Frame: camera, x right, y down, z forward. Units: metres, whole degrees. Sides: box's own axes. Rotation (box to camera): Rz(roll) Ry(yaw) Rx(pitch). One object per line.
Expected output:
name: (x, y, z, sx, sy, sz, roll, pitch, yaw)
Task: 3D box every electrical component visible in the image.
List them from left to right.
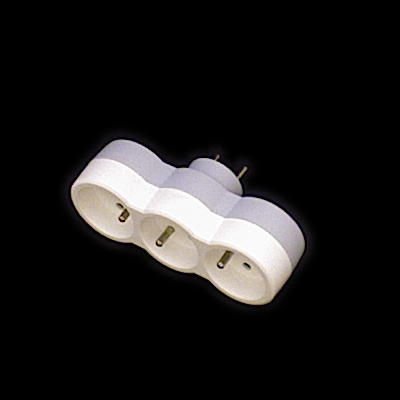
electrical component: (0.000, 0.000, 0.632, 0.137, 0.074, 0.052, 24, -36, 18)
